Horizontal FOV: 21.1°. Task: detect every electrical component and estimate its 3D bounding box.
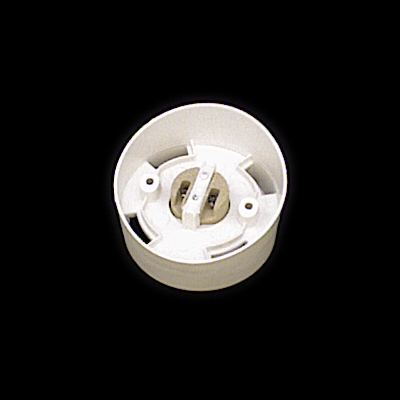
[{"bbox_3d":[0.000,0.000,0.626,0.099,0.098,0.064,0,-38,0],"label":"electrical component"}]
